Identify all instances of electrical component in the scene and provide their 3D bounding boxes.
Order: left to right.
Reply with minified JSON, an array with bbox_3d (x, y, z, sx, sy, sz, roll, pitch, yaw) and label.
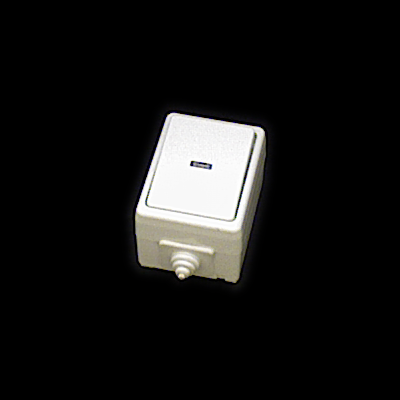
[{"bbox_3d":[0.000,0.000,0.626,0.061,0.096,0.061,10,-37,7],"label":"electrical component"}]
